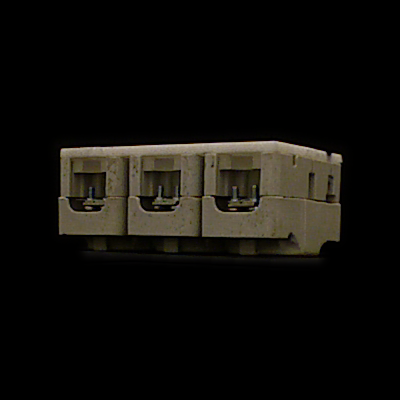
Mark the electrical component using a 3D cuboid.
[{"bbox_3d":[0.000,0.000,0.656,0.149,0.062,0.090,0,-1,32],"label":"electrical component"}]
